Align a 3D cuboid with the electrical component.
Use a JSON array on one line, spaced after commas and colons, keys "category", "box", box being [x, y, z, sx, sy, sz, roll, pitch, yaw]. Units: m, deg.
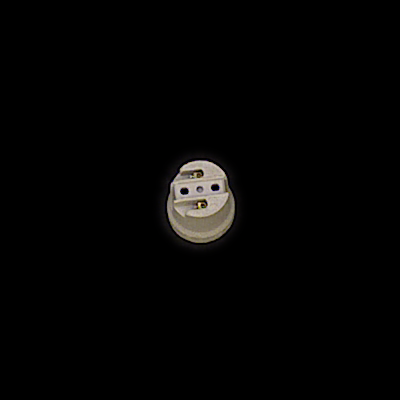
[{"category": "electrical component", "box": [0.000, 0.000, 0.633, 0.040, 0.040, 0.046, 0, -17, 0]}]
